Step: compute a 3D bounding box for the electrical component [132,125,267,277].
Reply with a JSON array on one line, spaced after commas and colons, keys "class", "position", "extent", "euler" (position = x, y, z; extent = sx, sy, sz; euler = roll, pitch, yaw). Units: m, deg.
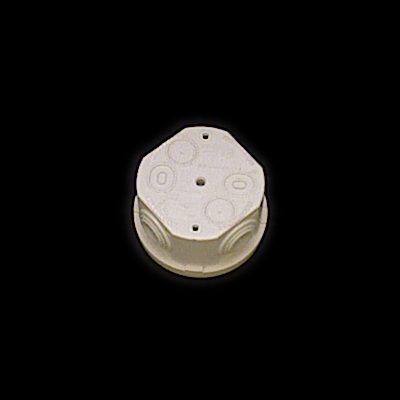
[{"class": "electrical component", "position": [0.000, 0.000, 0.631], "extent": [0.080, 0.080, 0.050], "euler": [0, -26, 0]}]
